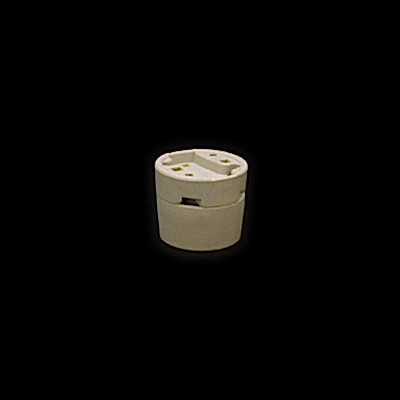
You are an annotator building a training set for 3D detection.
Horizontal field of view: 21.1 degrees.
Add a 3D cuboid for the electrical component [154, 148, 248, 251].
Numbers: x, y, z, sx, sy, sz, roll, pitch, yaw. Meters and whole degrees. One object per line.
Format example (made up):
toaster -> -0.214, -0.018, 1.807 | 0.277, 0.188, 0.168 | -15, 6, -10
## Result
electrical component -> 0.000, 0.000, 0.641 | 0.055, 0.047, 0.055 | 1, 21, 0
